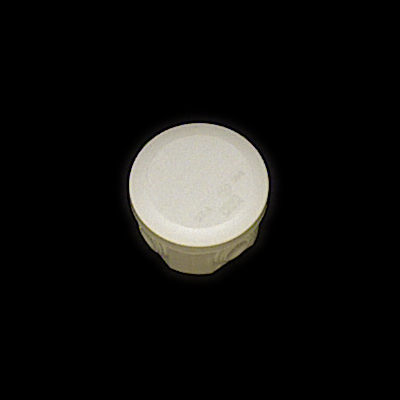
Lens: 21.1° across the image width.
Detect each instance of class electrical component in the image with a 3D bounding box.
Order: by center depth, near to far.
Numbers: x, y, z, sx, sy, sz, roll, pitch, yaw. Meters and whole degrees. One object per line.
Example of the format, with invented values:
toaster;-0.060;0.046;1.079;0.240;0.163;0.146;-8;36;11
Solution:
electrical component;0.000;0.000;0.629;0.080;0.080;0.050;0;-27;0
